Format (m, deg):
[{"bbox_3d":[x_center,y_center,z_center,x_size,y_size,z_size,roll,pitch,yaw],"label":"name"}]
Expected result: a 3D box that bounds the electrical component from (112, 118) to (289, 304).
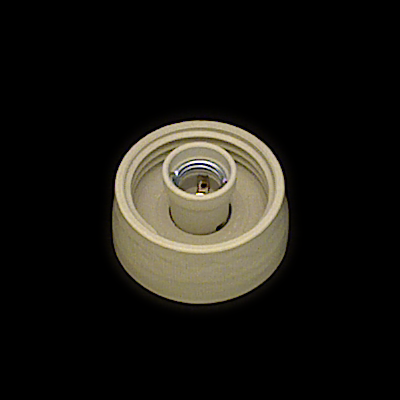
[{"bbox_3d":[0.000,0.000,0.634,0.108,0.107,0.060,0,-37,-1],"label":"electrical component"}]
